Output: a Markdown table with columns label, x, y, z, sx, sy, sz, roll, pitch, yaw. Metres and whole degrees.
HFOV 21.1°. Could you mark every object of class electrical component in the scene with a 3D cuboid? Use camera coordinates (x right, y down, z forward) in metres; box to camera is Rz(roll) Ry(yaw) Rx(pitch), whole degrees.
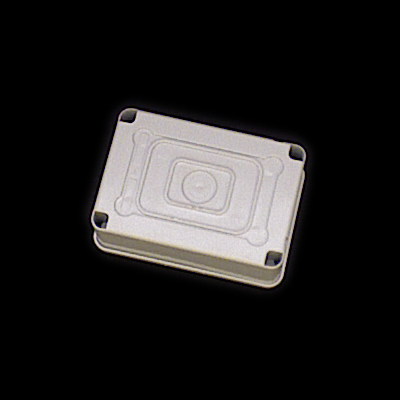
| label | x | y | z | sx | sy | sz | roll | pitch | yaw |
| --- | --- | --- | --- | --- | --- | --- | --- | --- | --- |
| electrical component | 0.000 | 0.000 | 0.628 | 0.113 | 0.078 | 0.057 | 13 | -16 | 4 |
